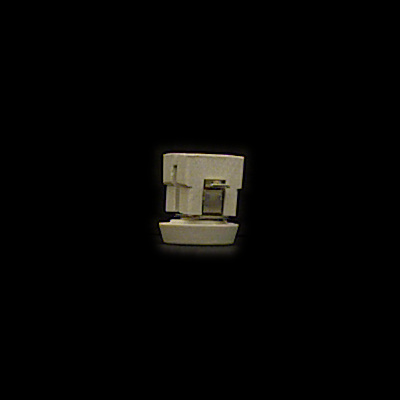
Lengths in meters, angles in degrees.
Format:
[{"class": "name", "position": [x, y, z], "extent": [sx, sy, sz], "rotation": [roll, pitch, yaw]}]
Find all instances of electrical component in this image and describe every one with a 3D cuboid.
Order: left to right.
[{"class": "electrical component", "position": [0.000, 0.000, 0.656], "extent": [0.049, 0.055, 0.066], "rotation": [2, 2, -22]}]
